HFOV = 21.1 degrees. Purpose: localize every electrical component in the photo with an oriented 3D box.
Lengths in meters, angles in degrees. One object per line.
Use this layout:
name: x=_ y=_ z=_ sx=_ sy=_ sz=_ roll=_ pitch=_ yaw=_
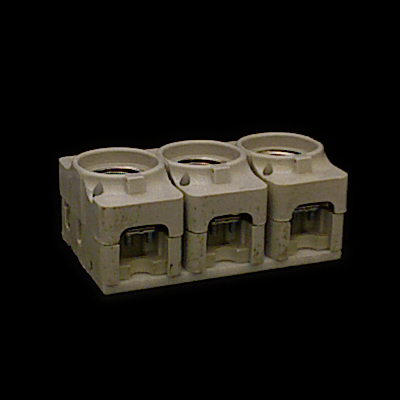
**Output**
electrical component: x=0.000 y=0.000 z=0.644 sx=0.150 sy=0.063 sz=0.088 roll=-8 pitch=23 yaw=-22
